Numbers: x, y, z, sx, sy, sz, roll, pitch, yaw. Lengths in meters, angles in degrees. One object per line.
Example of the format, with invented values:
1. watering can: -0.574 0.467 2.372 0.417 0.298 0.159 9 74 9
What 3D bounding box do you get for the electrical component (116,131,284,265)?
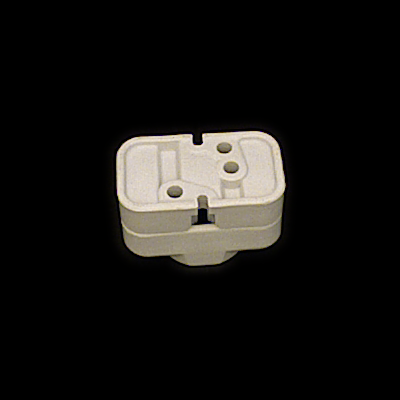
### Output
1. electrical component: 0.000 0.000 0.637 0.095 0.053 0.059 -4 -37 -3
